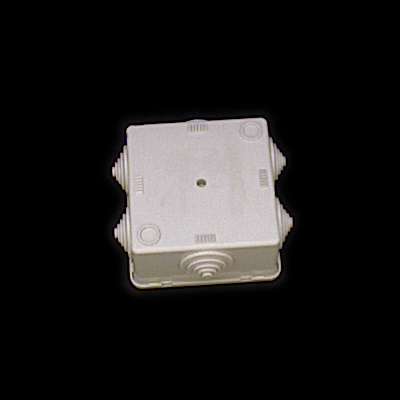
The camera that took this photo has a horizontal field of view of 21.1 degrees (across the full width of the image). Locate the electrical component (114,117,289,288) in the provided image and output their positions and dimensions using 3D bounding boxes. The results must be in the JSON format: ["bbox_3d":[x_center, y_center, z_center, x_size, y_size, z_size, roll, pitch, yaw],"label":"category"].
[{"bbox_3d":[0.000,0.000,0.632,0.100,0.099,0.048,-3,-27,-2],"label":"electrical component"}]
